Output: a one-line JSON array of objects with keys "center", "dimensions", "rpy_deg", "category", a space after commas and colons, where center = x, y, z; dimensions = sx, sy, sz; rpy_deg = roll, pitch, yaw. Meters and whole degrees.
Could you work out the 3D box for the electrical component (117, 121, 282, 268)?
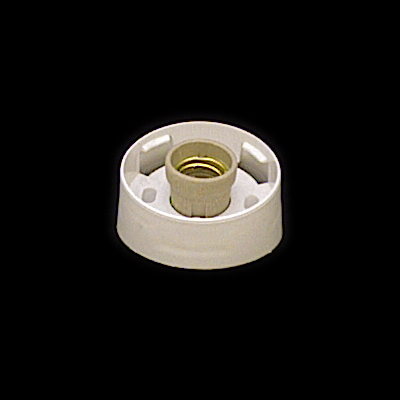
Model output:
[{"center": [0.000, 0.000, 0.629], "dimensions": [0.099, 0.064, 0.098], "rpy_deg": [1, 41, 0], "category": "electrical component"}]
